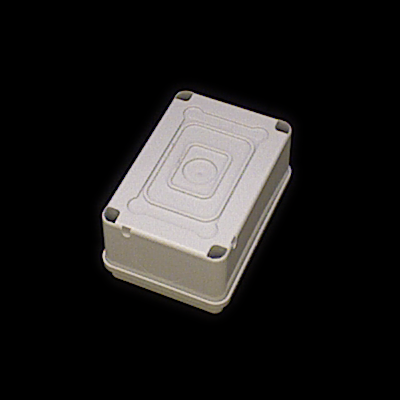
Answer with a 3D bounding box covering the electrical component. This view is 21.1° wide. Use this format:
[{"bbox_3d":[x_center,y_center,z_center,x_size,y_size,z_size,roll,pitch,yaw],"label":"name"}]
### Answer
[{"bbox_3d":[0.000,0.000,0.629,0.078,0.113,0.057,19,-36,14],"label":"electrical component"}]
